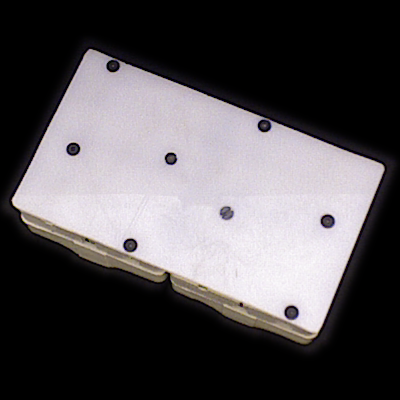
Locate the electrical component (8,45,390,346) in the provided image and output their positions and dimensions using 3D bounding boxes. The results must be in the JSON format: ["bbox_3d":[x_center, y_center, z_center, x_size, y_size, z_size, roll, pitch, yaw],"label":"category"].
[{"bbox_3d":[0.000,0.000,0.625,0.186,0.106,0.060,22,-16,6],"label":"electrical component"}]
